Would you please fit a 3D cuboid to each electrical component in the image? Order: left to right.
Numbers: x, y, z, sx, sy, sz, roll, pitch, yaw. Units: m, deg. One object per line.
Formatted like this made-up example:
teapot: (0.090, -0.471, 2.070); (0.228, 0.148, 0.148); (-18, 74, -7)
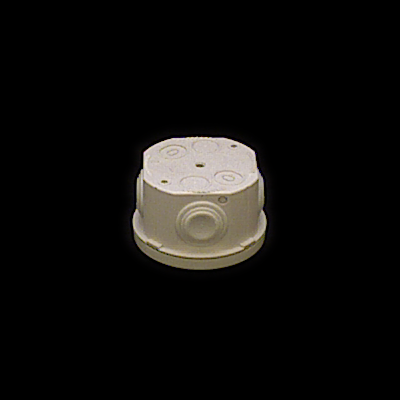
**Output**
electrical component: (0.000, 0.000, 0.636); (0.080, 0.051, 0.079); (1, 32, 0)
